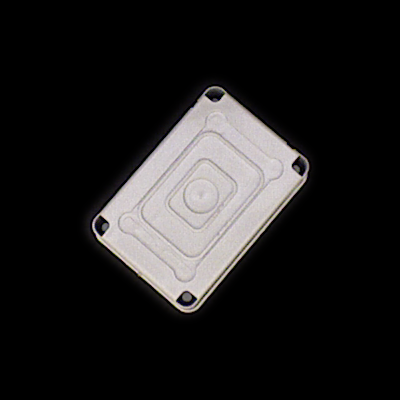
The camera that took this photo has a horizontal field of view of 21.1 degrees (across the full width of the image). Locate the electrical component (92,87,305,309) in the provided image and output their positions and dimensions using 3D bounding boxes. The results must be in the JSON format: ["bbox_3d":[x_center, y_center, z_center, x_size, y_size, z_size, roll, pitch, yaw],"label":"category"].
[{"bbox_3d":[0.000,0.000,0.628,0.078,0.113,0.057,40,-4,4],"label":"electrical component"}]
